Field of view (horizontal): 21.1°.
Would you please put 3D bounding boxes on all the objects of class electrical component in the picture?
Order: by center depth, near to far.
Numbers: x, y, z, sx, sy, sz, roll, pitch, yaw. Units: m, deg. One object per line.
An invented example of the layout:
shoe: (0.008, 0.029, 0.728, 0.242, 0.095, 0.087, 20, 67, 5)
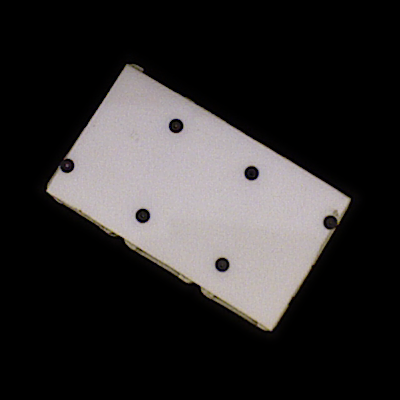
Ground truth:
electrical component: (0.000, 0.000, 0.631, 0.150, 0.089, 0.061, 32, -5, 4)
